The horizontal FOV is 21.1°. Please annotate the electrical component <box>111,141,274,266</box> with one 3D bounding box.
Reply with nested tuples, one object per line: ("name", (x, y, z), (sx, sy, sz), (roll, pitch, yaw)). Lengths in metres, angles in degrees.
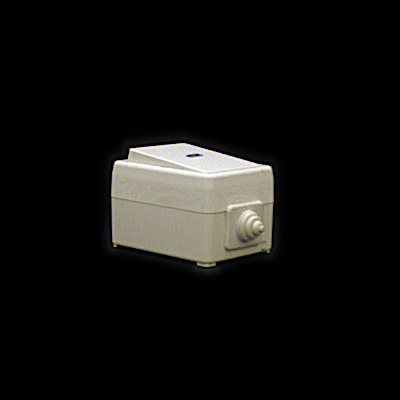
("electrical component", (0.000, 0.000, 0.642), (0.096, 0.061, 0.061), (10, 14, 40))
